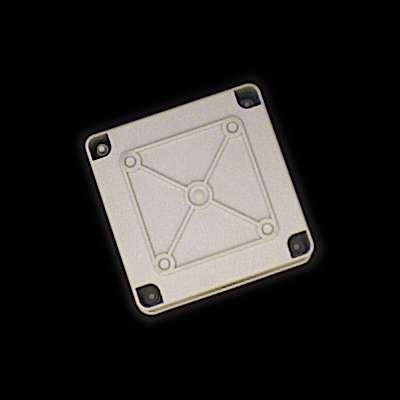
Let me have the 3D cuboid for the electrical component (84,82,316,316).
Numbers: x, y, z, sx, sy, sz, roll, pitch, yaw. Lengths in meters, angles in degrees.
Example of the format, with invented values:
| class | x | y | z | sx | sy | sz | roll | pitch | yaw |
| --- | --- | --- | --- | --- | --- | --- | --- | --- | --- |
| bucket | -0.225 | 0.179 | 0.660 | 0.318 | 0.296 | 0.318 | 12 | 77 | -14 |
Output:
| class | x | y | z | sx | sy | sz | roll | pitch | yaw |
| --- | --- | --- | --- | --- | --- | --- | --- | --- | --- |
| electrical component | 0.000 | 0.000 | 0.628 | 0.109 | 0.109 | 0.056 | -19 | -7 | -2 |
